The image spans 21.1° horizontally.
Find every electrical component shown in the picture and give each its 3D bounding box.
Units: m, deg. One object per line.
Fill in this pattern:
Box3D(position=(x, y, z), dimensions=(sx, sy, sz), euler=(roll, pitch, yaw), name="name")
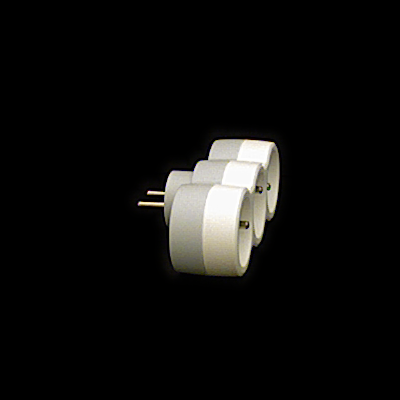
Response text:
Box3D(position=(0.000, 0.000, 0.649), dimensions=(0.073, 0.053, 0.137), euler=(5, 22, 13), name="electrical component")
